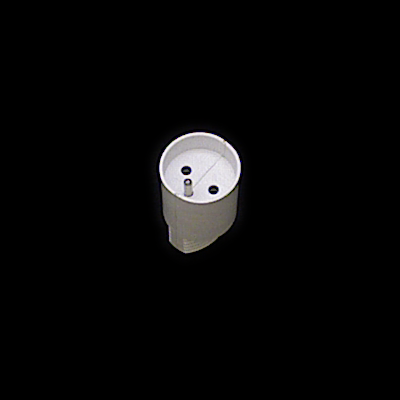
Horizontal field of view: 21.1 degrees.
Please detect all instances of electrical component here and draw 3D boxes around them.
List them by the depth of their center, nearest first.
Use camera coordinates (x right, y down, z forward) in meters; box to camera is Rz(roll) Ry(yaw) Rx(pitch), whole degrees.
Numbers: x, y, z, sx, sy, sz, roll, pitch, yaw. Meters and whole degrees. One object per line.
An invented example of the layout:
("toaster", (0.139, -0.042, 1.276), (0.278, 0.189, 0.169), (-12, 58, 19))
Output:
("electrical component", (0.000, 0.000, 0.615), (0.043, 0.043, 0.081), (0, -27, 1))
